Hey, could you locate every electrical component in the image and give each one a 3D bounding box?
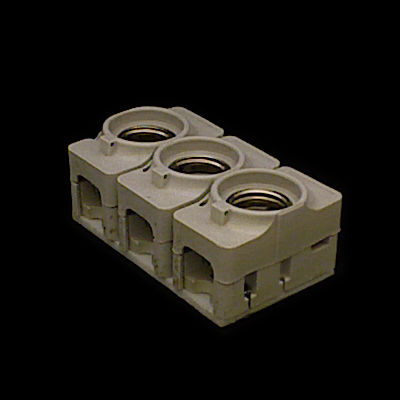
[{"bbox_3d":[0.000,0.000,0.639,0.089,0.063,0.148,-23,38,-33],"label":"electrical component"}]
